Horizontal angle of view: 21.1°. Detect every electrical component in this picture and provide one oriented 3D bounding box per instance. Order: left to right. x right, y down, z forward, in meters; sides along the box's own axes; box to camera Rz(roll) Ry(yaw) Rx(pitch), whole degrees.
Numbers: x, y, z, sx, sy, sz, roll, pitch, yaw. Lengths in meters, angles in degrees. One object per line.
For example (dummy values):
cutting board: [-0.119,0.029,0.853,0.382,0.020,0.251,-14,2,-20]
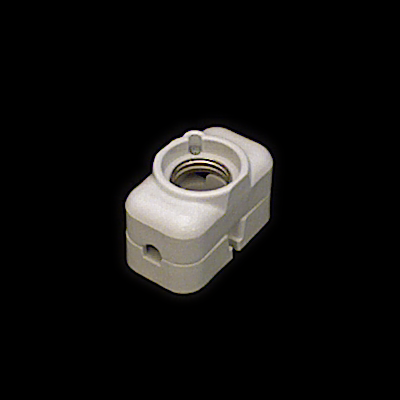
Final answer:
electrical component: [0.000,0.000,0.638,0.053,0.060,0.095,26,48,25]
